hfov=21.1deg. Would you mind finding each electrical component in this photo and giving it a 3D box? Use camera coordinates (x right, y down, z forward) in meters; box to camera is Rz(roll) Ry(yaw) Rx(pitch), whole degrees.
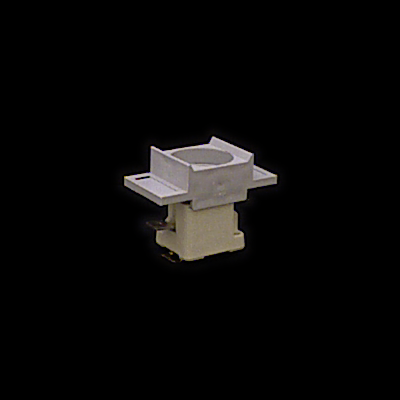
[{"bbox_3d":[0.000,0.000,0.636,0.081,0.064,0.041,-11,25,-31],"label":"electrical component"}]
